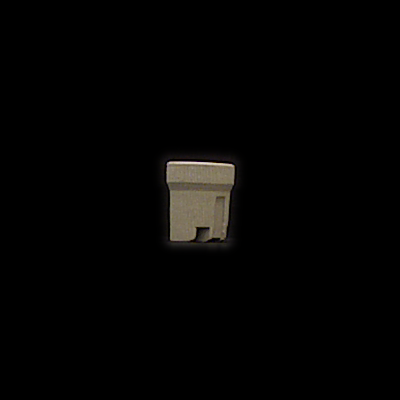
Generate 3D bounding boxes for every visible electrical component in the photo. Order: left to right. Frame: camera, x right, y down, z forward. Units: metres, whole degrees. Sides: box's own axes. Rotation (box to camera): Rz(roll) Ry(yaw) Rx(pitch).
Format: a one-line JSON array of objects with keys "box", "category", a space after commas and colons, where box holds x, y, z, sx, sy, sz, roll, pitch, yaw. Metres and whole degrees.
[{"box": [0.000, 0.000, 0.647, 0.040, 0.046, 0.040, 1, 1, 0], "category": "electrical component"}]
